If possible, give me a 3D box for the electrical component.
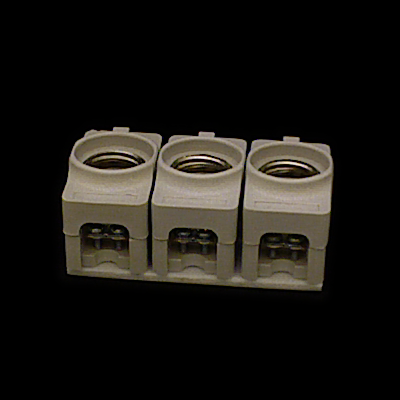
[{"bbox_3d":[0.000,0.000,0.642,0.150,0.063,0.087,4,31,4],"label":"electrical component"}]
